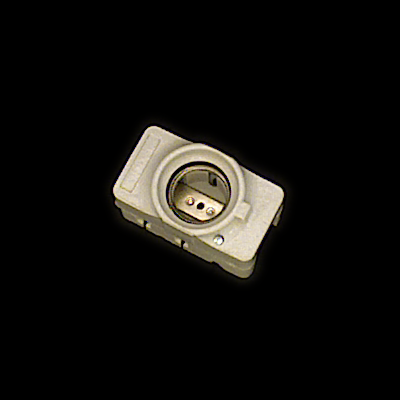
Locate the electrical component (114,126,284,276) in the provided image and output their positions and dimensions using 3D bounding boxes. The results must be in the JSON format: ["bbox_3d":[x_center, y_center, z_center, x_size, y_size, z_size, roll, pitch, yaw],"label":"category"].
[{"bbox_3d":[0.000,0.000,0.636,0.089,0.050,0.055,26,-14,7],"label":"electrical component"}]
